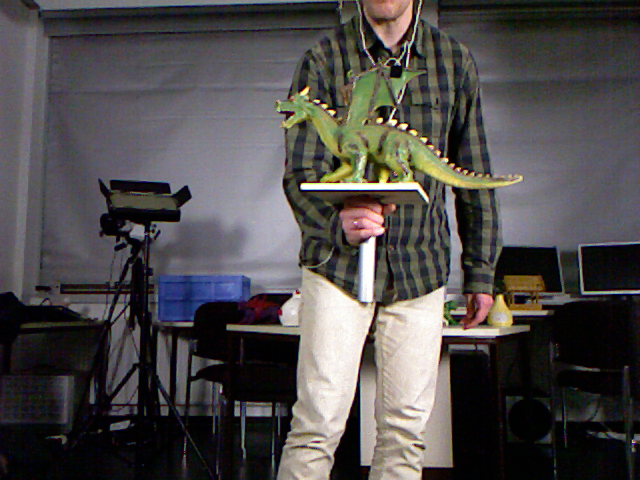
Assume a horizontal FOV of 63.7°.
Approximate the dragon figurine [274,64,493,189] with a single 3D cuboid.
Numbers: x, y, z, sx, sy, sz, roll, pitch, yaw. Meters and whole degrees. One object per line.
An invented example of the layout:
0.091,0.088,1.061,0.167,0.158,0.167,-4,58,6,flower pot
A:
0.119,-0.218,0.979,0.411,0.243,0.122,1,0,0,dragon figurine
